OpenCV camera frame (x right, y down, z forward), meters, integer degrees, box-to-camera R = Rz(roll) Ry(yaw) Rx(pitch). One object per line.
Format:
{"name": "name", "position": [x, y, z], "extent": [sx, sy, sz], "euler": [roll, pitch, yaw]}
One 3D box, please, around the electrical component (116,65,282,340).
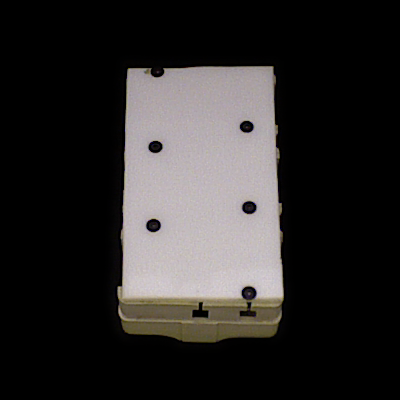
{"name": "electrical component", "position": [0.000, 0.000, 0.630], "extent": [0.089, 0.149, 0.062], "euler": [0, -27, 0]}
